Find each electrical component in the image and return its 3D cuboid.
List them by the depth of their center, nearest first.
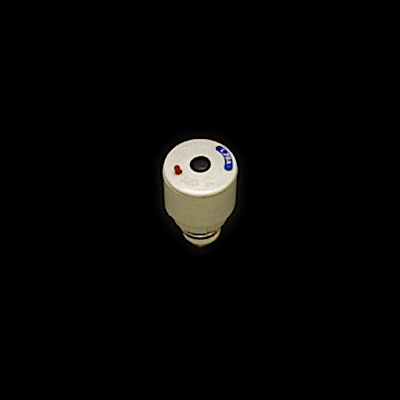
[{"bbox_3d":[0.000,0.000,0.620,0.040,0.040,0.079,0,-37,0],"label":"electrical component"}]
